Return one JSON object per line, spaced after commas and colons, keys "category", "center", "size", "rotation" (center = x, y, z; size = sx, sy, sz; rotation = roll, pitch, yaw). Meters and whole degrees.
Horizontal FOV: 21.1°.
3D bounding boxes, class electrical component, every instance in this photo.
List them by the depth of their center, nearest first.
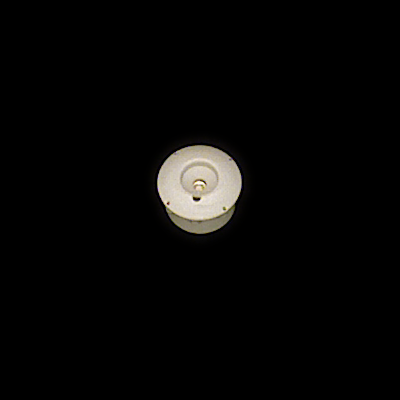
{"category": "electrical component", "center": [0.000, 0.000, 0.633], "size": [0.048, 0.048, 0.062], "rotation": [0, -26, 0]}
